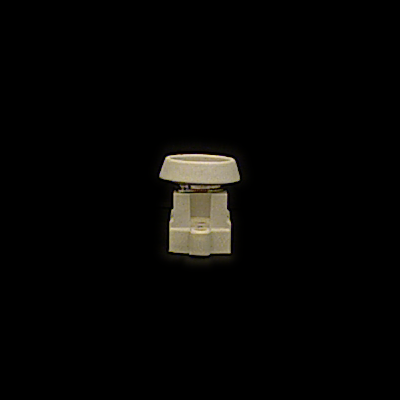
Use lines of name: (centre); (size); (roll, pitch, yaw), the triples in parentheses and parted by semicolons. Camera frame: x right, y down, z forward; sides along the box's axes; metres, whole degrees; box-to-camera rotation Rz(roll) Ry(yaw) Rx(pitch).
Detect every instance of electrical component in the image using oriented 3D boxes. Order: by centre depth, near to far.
electrical component: (0.000, 0.000, 0.652); (0.048, 0.056, 0.066); (3, 11, -2)
